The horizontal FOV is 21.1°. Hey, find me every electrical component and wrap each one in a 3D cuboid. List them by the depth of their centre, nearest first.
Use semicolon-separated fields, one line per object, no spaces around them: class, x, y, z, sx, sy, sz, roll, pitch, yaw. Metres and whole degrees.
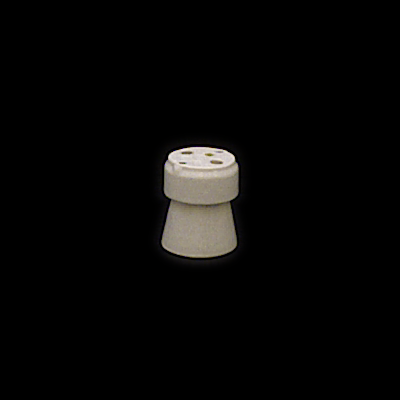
electrical component;0.000;0.000;0.639;0.045;0.056;0.044;1;22;0
